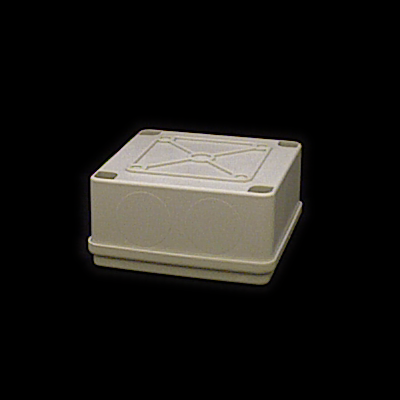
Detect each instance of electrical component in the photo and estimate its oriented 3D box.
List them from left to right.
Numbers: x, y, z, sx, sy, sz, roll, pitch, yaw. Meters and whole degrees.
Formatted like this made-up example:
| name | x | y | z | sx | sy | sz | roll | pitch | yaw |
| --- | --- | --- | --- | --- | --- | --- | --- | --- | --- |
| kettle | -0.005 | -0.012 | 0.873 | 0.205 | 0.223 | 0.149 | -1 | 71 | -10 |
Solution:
| name | x | y | z | sx | sy | sz | roll | pitch | yaw |
| --- | --- | --- | --- | --- | --- | --- | --- | --- | --- |
| electrical component | 0.000 | 0.000 | 0.640 | 0.108 | 0.057 | 0.107 | 6 | 21 | 13 |
